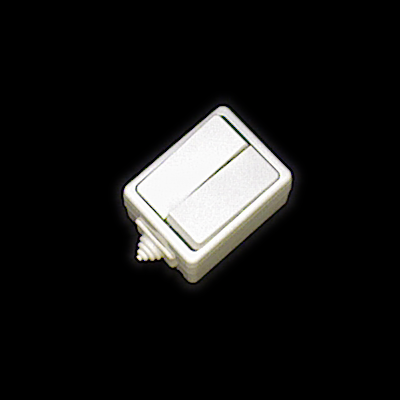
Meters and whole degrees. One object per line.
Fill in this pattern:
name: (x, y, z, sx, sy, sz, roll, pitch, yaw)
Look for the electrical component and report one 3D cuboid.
electrical component: (0.000, 0.000, 0.625, 0.096, 0.062, 0.060, -41, -13, -12)
